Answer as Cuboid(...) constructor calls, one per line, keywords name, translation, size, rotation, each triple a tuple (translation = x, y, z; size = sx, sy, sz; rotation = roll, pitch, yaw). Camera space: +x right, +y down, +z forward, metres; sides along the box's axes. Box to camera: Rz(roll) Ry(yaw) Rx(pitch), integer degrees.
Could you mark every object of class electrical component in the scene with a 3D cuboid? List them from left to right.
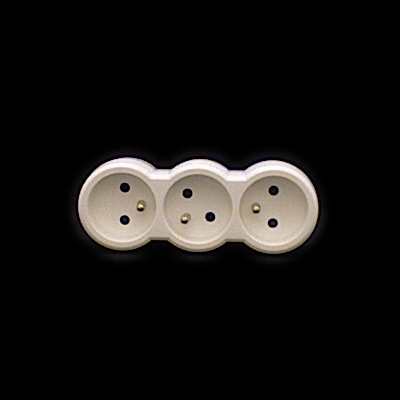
Cuboid(name="electrical component", translation=(0.000, 0.000, 0.645), size=(0.138, 0.052, 0.073), rotation=(1, 9, 1))
